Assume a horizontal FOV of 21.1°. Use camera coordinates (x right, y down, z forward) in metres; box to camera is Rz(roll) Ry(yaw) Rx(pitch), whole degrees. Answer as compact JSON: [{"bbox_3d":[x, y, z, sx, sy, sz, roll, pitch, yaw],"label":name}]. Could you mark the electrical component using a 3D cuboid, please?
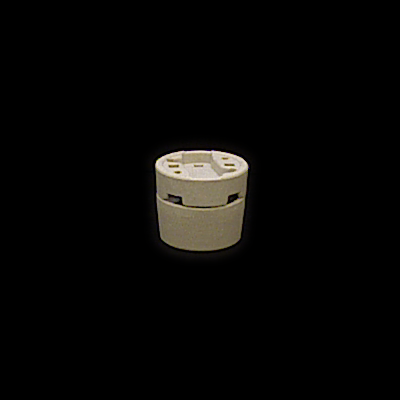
[{"bbox_3d":[0.000,0.000,0.642,0.055,0.047,0.055,1,22,0],"label":"electrical component"}]
